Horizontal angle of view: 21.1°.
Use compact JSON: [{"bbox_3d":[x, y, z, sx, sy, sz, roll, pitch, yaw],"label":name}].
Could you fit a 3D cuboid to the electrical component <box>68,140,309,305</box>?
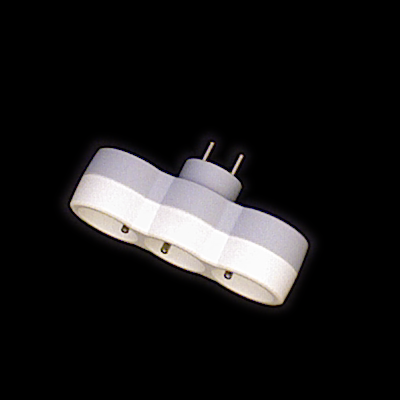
[{"bbox_3d":[0.000,0.000,0.631,0.138,0.074,0.052,24,-17,8],"label":"electrical component"}]
